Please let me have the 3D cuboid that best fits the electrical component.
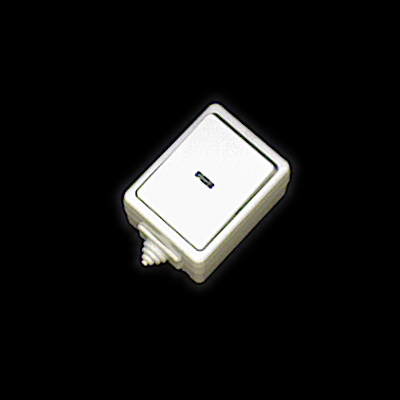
[{"bbox_3d":[0.000,0.000,0.625,0.062,0.097,0.060,41,-13,11],"label":"electrical component"}]
